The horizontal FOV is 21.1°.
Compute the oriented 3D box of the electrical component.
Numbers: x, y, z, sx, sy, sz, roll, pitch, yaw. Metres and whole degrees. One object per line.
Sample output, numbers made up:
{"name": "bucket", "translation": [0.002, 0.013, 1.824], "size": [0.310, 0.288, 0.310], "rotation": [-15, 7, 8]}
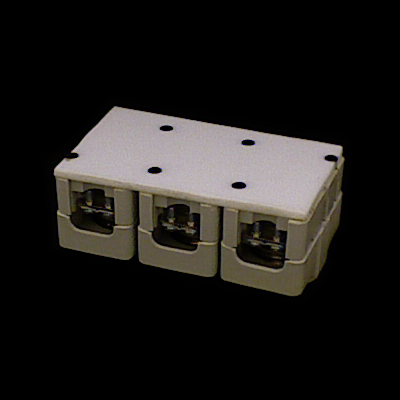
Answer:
{"name": "electrical component", "translation": [0.000, 0.000, 0.641], "size": [0.150, 0.063, 0.087], "rotation": [11, 33, 16]}
